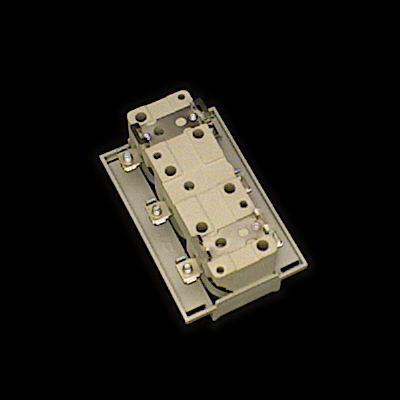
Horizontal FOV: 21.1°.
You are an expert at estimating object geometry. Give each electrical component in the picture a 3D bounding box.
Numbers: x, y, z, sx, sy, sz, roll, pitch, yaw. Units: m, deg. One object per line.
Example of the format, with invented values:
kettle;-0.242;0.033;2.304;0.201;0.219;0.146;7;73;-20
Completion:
electrical component;0.000;0.000;0.635;0.079;0.121;0.063;-24;-24;-12
